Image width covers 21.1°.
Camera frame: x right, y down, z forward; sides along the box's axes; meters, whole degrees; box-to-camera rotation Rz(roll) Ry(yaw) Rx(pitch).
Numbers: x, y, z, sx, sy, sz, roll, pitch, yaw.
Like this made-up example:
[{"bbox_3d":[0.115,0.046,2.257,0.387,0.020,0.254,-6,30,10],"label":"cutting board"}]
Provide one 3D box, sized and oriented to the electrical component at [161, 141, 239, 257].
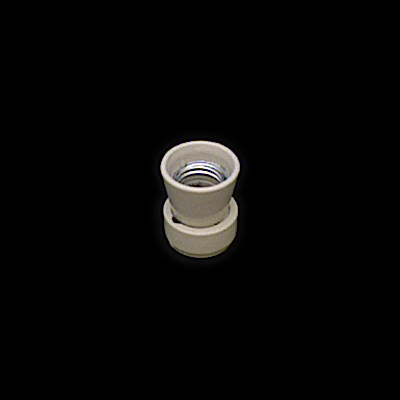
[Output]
[{"bbox_3d":[0.000,0.000,0.631,0.045,0.055,0.044,1,41,0],"label":"electrical component"}]
